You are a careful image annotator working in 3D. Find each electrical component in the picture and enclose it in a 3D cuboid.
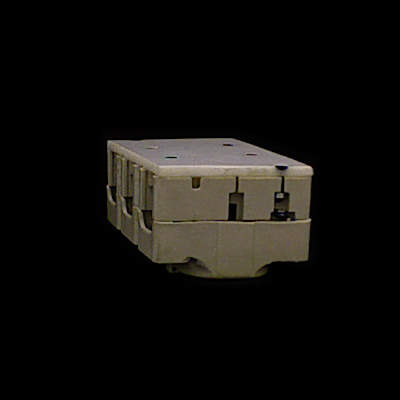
[{"bbox_3d":[0.000,0.000,0.652,0.090,0.062,0.148,-1,10,-15],"label":"electrical component"}]
